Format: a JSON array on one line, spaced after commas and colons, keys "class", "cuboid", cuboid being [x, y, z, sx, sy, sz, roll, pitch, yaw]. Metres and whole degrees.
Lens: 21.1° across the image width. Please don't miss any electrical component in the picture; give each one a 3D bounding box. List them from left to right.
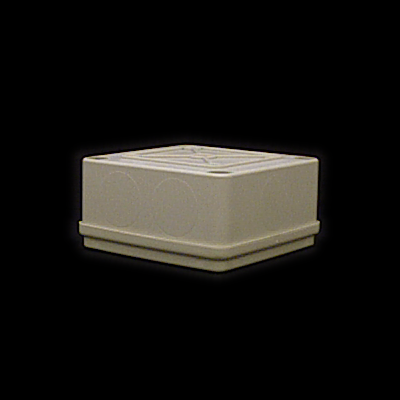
[{"class": "electrical component", "cuboid": [0.000, 0.000, 0.647, 0.108, 0.056, 0.109, 8, 12, 35]}]
